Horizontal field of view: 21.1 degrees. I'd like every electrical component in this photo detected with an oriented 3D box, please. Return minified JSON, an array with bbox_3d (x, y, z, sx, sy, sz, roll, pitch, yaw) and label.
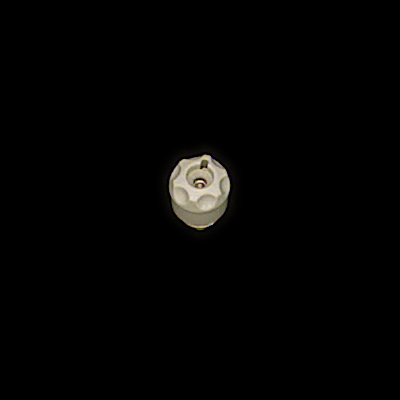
[{"bbox_3d":[0.000,0.000,0.635,0.035,0.035,0.061,0,-27,0],"label":"electrical component"}]
